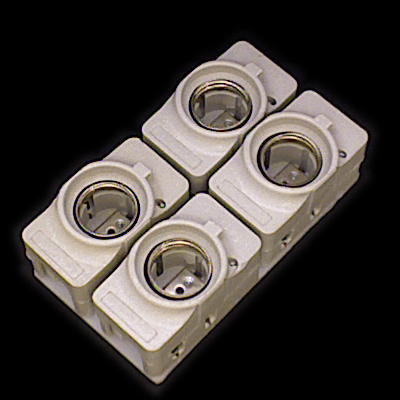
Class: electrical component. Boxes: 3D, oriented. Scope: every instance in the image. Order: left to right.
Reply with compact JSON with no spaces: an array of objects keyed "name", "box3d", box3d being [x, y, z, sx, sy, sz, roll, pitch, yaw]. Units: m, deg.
[{"name":"electrical component","box3d":[0.000,0.000,0.626,0.105,0.187,0.060,40,-21,18]}]
